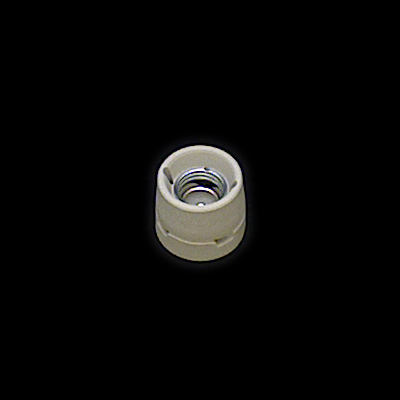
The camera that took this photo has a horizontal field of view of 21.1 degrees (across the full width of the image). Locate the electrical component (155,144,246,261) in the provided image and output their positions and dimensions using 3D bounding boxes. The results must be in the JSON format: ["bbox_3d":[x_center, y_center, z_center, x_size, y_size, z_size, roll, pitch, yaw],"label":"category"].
[{"bbox_3d":[0.000,0.000,0.634,0.055,0.055,0.047,0,-38,1],"label":"electrical component"}]
